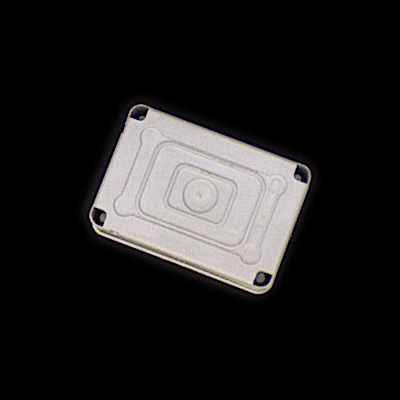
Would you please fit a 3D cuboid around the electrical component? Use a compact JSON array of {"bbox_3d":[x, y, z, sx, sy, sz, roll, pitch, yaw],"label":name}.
[{"bbox_3d":[0.000,0.000,0.629,0.113,0.078,0.057,21,-6,2],"label":"electrical component"}]
